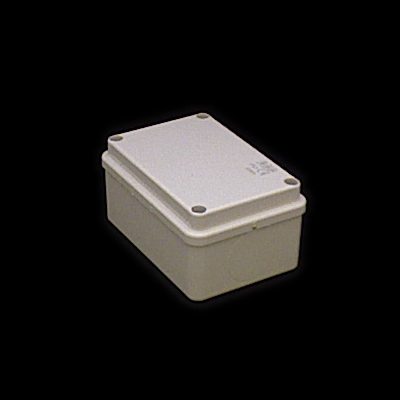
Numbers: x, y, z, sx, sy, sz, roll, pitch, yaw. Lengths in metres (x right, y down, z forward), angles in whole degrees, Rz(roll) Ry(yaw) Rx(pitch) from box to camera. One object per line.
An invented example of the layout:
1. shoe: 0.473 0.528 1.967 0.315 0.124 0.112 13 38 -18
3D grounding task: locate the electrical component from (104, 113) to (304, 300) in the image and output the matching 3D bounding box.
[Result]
1. electrical component: 0.000 0.000 0.636 0.078 0.058 0.112 -17 36 -27
